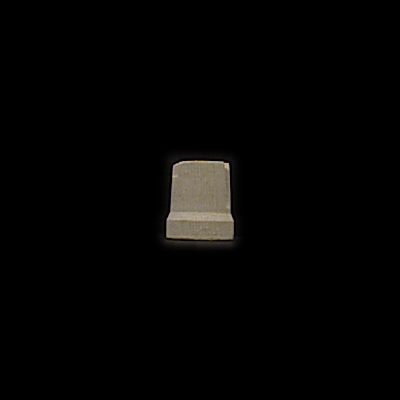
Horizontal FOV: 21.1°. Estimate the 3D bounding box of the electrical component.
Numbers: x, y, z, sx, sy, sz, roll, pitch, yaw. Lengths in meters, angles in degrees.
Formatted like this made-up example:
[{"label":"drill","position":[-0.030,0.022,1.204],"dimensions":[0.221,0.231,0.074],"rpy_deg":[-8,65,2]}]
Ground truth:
[{"label":"electrical component","position":[0.000,0.000,0.651],"dimensions":[0.040,0.046,0.040],"rpy_deg":[2,1,0]}]
